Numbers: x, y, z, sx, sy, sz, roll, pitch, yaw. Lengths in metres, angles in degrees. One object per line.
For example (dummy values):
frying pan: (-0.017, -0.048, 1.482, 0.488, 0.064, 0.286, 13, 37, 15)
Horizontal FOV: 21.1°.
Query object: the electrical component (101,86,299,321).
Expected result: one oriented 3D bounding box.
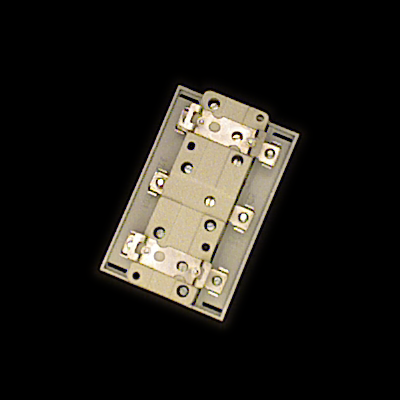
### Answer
electrical component: (0.000, 0.000, 0.634, 0.078, 0.122, 0.063, 22, -6, 3)
